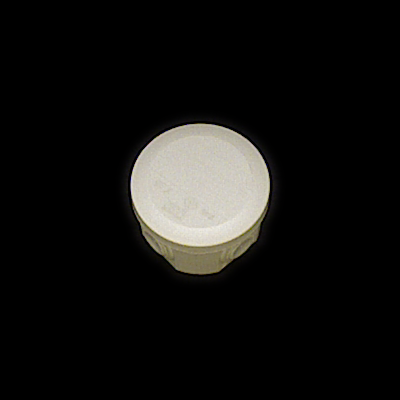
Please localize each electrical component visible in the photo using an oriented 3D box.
[{"bbox_3d":[0.000,0.000,0.630,0.080,0.080,0.050,0,-27,0],"label":"electrical component"}]
